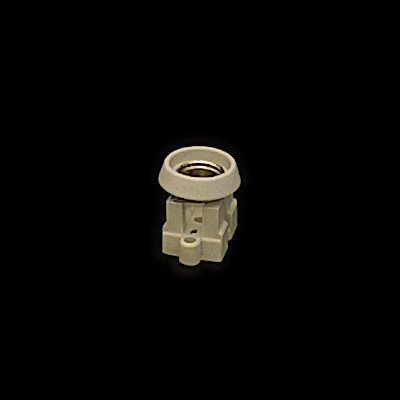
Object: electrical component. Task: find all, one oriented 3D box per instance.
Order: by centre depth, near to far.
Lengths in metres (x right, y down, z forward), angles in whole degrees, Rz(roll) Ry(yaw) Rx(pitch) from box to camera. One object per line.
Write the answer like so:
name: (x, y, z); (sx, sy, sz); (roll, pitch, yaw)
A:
electrical component: (0.000, 0.000, 0.644); (0.048, 0.056, 0.066); (9, 33, 10)
